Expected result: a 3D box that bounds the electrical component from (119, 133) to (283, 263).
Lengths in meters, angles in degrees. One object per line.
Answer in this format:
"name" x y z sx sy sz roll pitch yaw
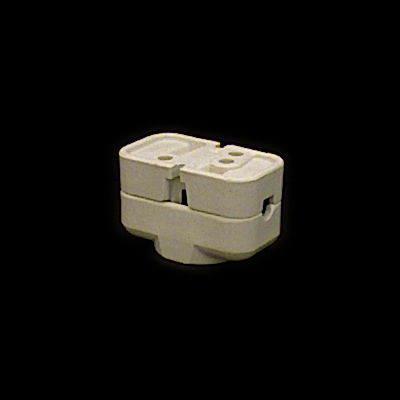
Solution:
"electrical component" 0.000 0.000 0.648 0.094 0.060 0.053 14 25 30
